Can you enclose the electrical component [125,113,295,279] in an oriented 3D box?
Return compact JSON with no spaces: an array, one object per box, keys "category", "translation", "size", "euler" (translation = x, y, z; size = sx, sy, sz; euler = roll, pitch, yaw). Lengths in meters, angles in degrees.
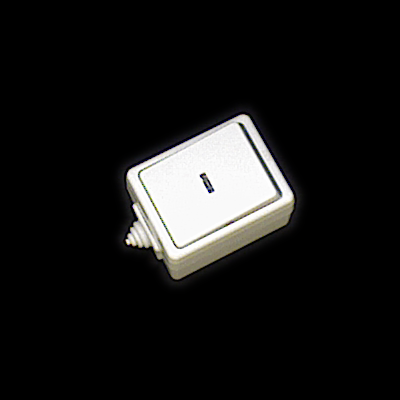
[{"category":"electrical component","translation":[0.000,0.000,0.625],"size":[0.096,0.062,0.060],"euler":[-27,-15,-8]}]
